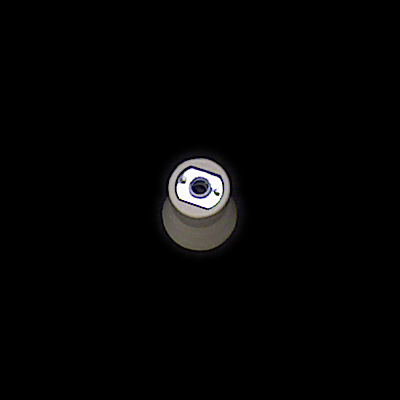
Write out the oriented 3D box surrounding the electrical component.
[{"bbox_3d":[0.000,0.000,0.624,0.044,0.044,0.065,0,-16,0],"label":"electrical component"}]
